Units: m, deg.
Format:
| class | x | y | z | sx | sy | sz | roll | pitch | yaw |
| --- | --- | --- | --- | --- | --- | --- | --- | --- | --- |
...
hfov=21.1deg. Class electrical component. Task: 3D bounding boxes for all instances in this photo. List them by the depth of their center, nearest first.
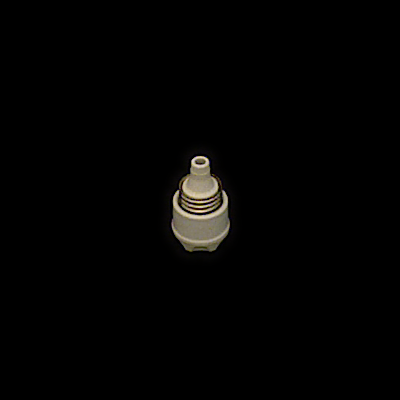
| class | x | y | z | sx | sy | sz | roll | pitch | yaw |
| --- | --- | --- | --- | --- | --- | --- | --- | --- | --- |
| electrical component | 0.000 | 0.000 | 0.641 | 0.035 | 0.062 | 0.035 | 0 | 41 | 0 |
